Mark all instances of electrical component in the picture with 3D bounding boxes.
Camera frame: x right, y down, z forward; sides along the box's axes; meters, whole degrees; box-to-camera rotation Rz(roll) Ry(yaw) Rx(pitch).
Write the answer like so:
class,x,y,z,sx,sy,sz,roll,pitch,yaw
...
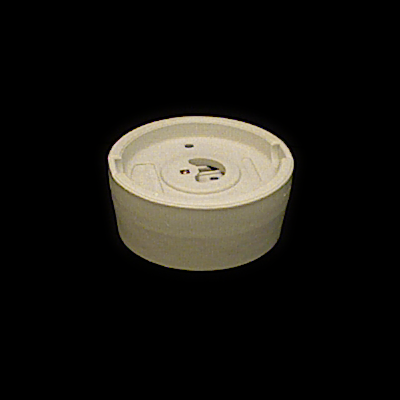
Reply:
class,x,y,z,sx,sy,sz,roll,pitch,yaw
electrical component,0.000,0.000,0.638,0.108,0.061,0.106,2,32,0
